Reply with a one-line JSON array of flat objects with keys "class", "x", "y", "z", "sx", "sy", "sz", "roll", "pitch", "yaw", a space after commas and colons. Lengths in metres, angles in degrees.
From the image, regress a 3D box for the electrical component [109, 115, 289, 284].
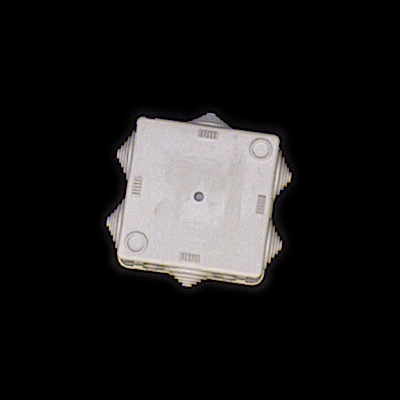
[{"class": "electrical component", "x": 0.000, "y": 0.000, "z": 0.633, "sx": 0.100, "sy": 0.100, "sz": 0.048, "roll": 8, "pitch": -7, "yaw": 1}]
